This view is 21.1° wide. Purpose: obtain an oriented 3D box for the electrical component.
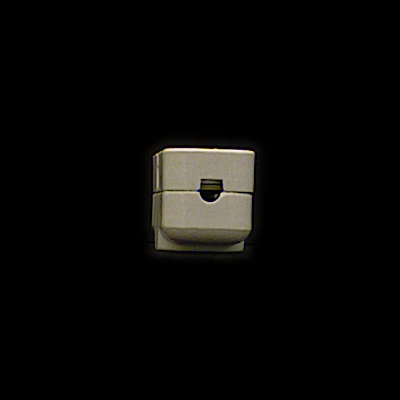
[{"bbox_3d":[0.000,0.000,0.658,0.054,0.059,0.095,1,0,-8],"label":"electrical component"}]
